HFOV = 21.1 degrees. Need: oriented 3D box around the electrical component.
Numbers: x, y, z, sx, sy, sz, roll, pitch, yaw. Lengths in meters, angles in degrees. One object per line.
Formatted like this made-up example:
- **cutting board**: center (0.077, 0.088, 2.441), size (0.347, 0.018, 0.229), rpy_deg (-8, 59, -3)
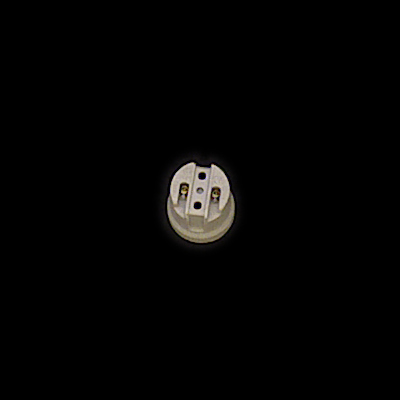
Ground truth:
- **electrical component**: center (0.000, 0.000, 0.633), size (0.040, 0.040, 0.046), rpy_deg (0, -17, 1)
